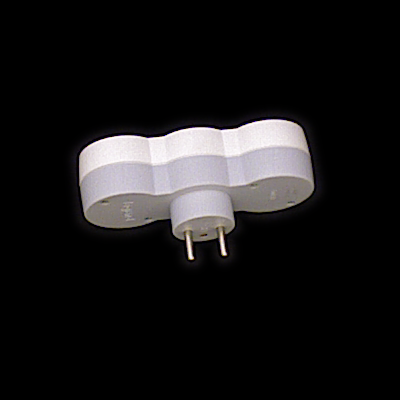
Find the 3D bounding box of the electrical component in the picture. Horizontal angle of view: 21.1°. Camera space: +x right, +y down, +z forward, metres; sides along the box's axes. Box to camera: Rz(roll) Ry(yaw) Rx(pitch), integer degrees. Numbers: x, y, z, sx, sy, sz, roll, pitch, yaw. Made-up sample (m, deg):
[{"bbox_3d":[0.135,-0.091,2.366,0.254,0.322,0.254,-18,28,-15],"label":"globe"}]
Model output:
[{"bbox_3d":[0.000,0.000,0.631,0.138,0.074,0.052,-6,-25,-5],"label":"electrical component"}]
